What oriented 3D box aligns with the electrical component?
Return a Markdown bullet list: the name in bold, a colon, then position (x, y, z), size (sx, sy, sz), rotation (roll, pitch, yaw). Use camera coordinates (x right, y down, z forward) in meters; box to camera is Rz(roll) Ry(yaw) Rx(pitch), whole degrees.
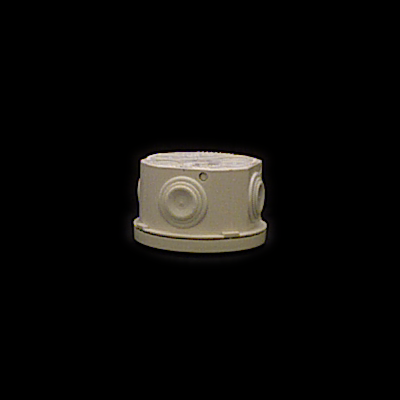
- **electrical component**: position (0.000, 0.000, 0.644), size (0.080, 0.051, 0.079), rotation (2, 11, 0)
